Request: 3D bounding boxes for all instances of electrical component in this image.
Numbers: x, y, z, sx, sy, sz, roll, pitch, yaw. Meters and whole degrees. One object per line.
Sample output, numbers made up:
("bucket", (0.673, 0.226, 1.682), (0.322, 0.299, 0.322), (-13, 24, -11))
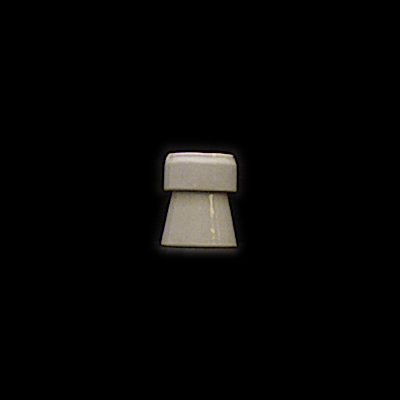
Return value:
("electrical component", (0.000, 0.000, 0.651), (0.045, 0.055, 0.045), (2, 1, 0))
